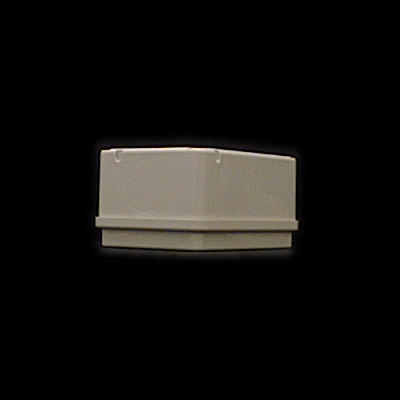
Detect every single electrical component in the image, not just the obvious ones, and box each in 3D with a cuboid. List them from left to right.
[{"bbox_3d":[0.000,0.000,0.650,0.078,0.057,0.113,1,0,35],"label":"electrical component"}]
